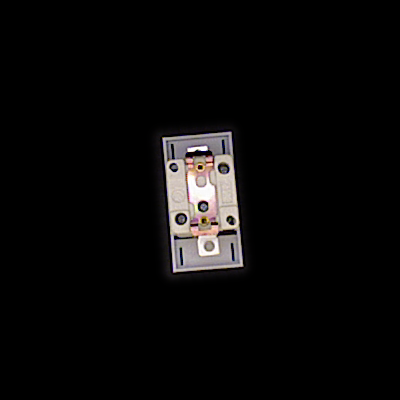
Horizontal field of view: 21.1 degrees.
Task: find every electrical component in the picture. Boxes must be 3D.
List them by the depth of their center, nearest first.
[{"bbox_3d":[0.000,0.000,0.626,0.042,0.081,0.063,-5,-6,0],"label":"electrical component"}]
